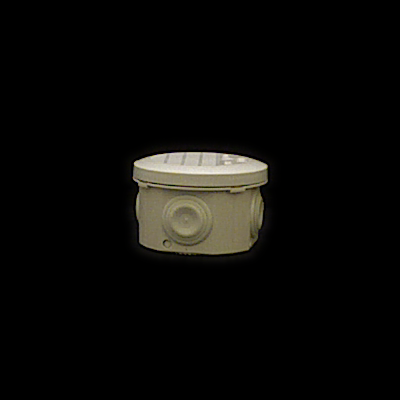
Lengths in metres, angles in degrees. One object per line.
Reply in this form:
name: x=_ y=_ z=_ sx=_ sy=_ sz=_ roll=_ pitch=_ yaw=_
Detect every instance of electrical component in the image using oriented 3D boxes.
electrical component: x=0.000 y=0.000 z=0.642 sx=0.080 sy=0.051 sz=0.079 roll=1 pitch=11 yaw=0
